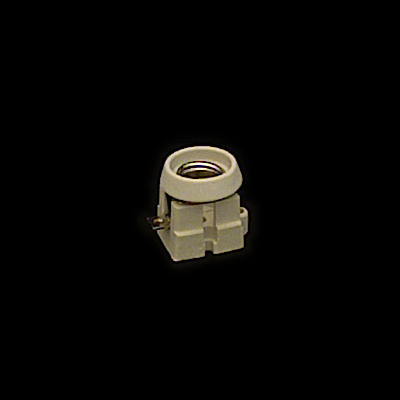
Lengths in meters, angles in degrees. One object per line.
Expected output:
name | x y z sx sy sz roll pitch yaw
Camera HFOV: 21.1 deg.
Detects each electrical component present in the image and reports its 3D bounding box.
electrical component | 0.000 0.000 0.642 0.067 0.056 0.047 -11 32 -19
